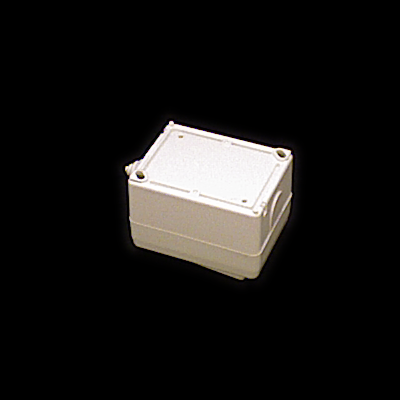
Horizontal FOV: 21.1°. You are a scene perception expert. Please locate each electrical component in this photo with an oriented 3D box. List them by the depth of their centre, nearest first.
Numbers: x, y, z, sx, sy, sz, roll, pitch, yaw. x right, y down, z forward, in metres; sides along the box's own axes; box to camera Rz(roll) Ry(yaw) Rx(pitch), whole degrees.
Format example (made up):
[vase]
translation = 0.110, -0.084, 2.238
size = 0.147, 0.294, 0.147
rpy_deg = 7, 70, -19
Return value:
[electrical component]
translation = 0.000, 0.000, 0.634
size = 0.096, 0.061, 0.061
rpy_deg = 15, 44, 16
